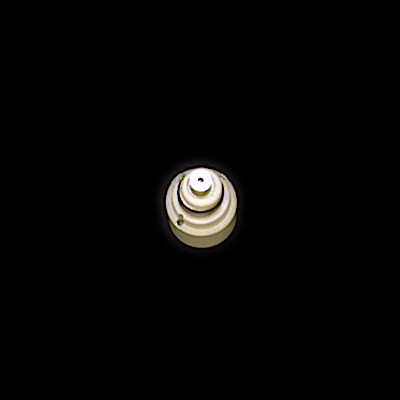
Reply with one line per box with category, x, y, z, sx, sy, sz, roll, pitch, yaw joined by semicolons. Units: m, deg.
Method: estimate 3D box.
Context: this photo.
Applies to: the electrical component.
electrical component;0.000;0.000;0.618;0.040;0.040;0.078;0;-16;1
